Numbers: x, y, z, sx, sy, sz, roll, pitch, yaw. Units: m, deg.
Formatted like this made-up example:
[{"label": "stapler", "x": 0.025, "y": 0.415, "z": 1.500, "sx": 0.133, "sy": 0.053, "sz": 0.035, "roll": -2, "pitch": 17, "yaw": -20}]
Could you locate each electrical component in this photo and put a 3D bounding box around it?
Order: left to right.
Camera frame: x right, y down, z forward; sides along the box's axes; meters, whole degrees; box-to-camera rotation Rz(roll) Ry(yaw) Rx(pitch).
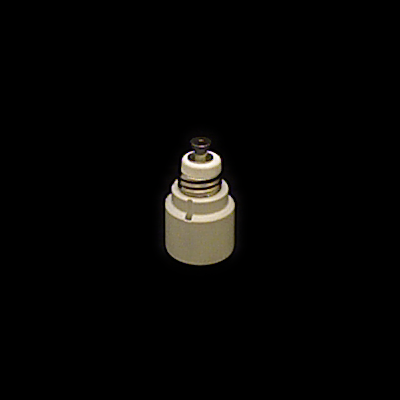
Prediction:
[{"label": "electrical component", "x": 0.000, "y": 0.000, "z": 0.631, "sx": 0.040, "sy": 0.079, "sz": 0.039, "roll": 1, "pitch": 32, "yaw": 0}]
